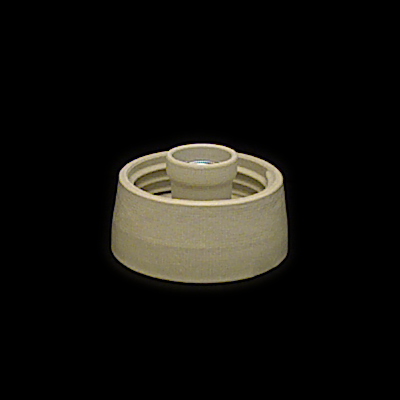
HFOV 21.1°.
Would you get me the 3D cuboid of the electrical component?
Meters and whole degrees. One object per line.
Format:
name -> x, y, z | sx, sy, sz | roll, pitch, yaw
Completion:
electrical component -> 0.000, 0.000, 0.645 | 0.108, 0.061, 0.106 | 1, 21, 0
